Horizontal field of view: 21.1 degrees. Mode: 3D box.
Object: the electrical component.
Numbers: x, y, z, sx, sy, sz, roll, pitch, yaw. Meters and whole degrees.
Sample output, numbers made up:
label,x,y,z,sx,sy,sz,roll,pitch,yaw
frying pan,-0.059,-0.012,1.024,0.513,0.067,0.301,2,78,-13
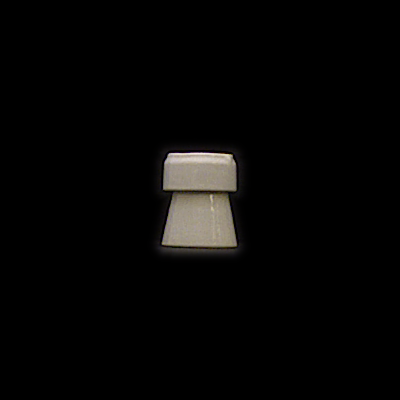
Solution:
label,x,y,z,sx,sy,sz,roll,pitch,yaw
electrical component,0.000,0.000,0.648,0.045,0.055,0.045,1,1,0
